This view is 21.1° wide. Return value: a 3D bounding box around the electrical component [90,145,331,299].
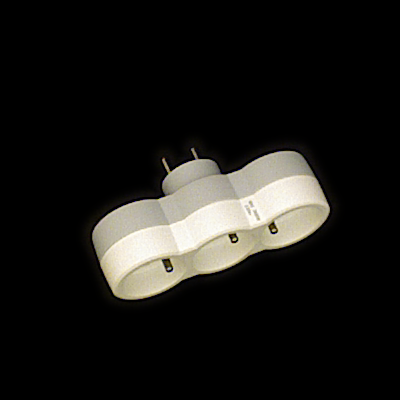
[{"bbox_3d":[0.000,0.000,0.639,0.139,0.073,0.052,-20,-26,-10],"label":"electrical component"}]
